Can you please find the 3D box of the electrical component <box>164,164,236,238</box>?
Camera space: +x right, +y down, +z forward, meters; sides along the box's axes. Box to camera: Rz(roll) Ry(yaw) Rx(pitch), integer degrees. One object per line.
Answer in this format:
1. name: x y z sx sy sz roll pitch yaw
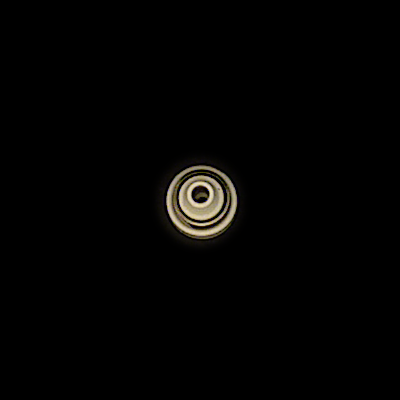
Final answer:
1. electrical component: 0.000 0.000 0.635 0.043 0.043 0.062 0 -6 1
